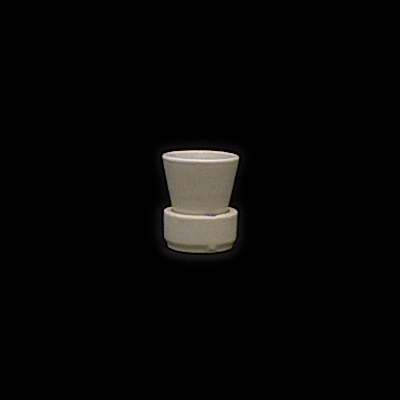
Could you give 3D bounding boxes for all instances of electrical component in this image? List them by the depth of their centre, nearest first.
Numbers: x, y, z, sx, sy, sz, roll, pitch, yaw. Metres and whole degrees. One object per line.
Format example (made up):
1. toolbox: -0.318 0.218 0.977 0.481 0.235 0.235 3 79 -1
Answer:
1. electrical component: 0.000 0.000 0.643 0.045 0.055 0.044 0 11 0
